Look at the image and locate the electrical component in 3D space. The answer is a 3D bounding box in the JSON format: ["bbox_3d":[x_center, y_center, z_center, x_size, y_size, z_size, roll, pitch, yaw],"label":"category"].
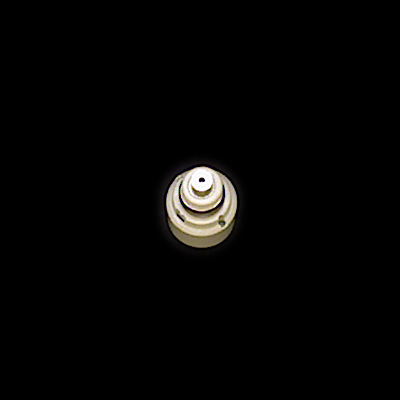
[{"bbox_3d":[0.000,0.000,0.618,0.040,0.040,0.078,0,-16,-1],"label":"electrical component"}]
